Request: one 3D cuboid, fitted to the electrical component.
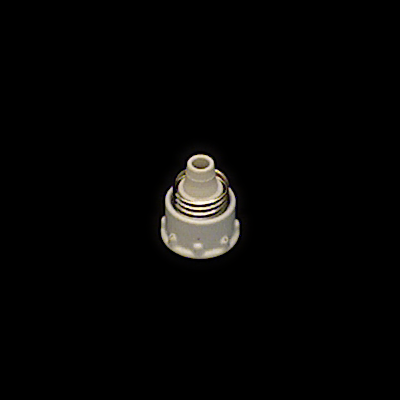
[{"bbox_3d":[0.000,0.000,0.636,0.048,0.062,0.047,0,44,0],"label":"electrical component"}]
